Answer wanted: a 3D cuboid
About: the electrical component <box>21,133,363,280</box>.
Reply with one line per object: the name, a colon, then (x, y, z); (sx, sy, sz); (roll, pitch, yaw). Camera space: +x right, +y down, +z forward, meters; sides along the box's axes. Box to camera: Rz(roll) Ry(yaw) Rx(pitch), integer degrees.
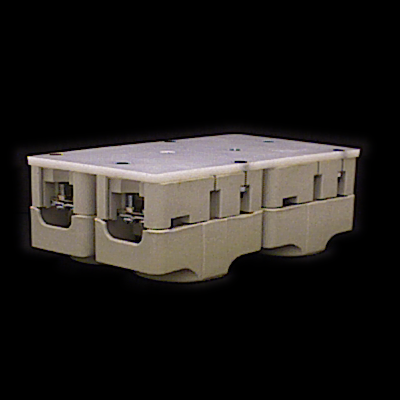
electrical component: (0.000, 0.000, 0.644); (0.105, 0.061, 0.186); (10, 13, 41)
